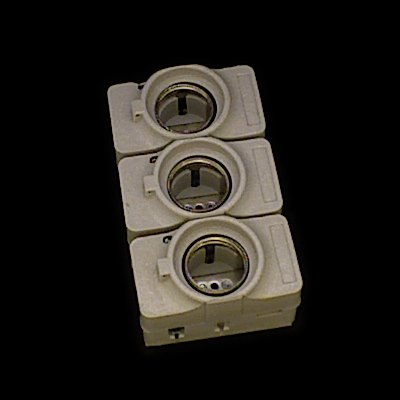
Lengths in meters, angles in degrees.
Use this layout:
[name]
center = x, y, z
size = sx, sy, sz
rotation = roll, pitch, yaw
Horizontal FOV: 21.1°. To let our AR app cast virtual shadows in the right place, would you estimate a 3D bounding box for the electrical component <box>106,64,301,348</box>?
[electrical component]
center = 0.000, 0.000, 0.631
size = 0.090, 0.149, 0.062
rotation = -9, -27, -4
